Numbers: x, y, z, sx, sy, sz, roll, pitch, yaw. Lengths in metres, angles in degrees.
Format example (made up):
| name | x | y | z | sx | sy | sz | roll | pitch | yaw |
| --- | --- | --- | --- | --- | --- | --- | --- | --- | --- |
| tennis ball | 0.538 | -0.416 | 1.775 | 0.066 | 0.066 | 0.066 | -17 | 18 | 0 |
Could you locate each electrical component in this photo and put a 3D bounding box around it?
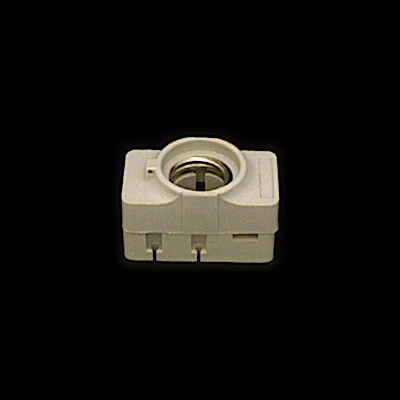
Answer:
| name | x | y | z | sx | sy | sz | roll | pitch | yaw |
| --- | --- | --- | --- | --- | --- | --- | --- | --- | --- |
| electrical component | 0.000 | 0.000 | 0.640 | 0.090 | 0.056 | 0.049 | 1 | 43 | -1 |
